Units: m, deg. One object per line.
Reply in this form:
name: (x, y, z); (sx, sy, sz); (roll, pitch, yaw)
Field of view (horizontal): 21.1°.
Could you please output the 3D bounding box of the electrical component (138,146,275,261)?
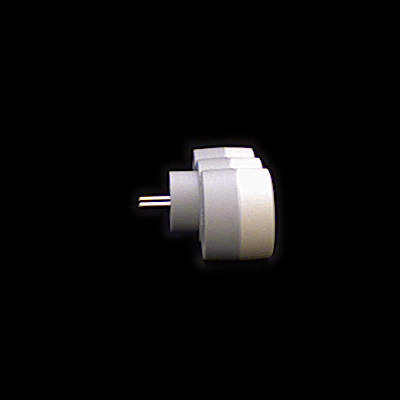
electrical component: (0.000, 0.000, 0.642); (0.074, 0.052, 0.137); (-1, 11, -3)
